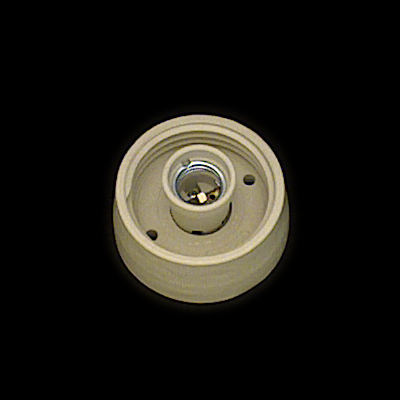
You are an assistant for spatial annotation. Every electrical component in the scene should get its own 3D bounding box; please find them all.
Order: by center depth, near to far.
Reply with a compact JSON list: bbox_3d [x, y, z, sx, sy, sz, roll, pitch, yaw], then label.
[{"bbox_3d":[0.000,0.000,0.634,0.108,0.108,0.060,0,-26,0],"label":"electrical component"}]
